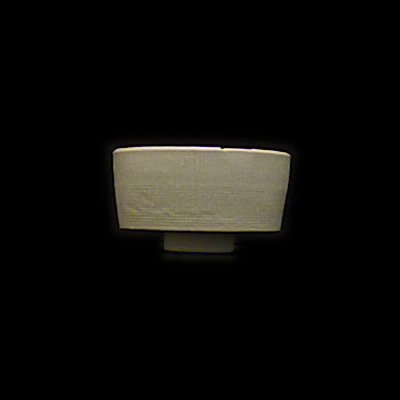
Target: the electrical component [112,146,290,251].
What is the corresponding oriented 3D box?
[{"bbox_3d":[0.000,0.000,0.655,0.108,0.060,0.108,1,0,0],"label":"electrical component"}]
